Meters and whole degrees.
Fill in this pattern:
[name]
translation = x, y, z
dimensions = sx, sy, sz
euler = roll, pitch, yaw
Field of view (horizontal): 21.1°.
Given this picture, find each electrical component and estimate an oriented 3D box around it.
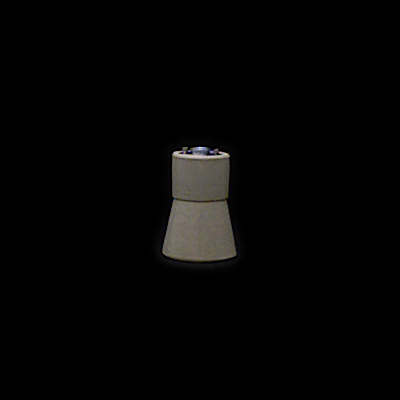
[electrical component]
translation = 0.000, 0.000, 0.645
dimensions = 0.044, 0.066, 0.044
euler = 1, 10, 0
